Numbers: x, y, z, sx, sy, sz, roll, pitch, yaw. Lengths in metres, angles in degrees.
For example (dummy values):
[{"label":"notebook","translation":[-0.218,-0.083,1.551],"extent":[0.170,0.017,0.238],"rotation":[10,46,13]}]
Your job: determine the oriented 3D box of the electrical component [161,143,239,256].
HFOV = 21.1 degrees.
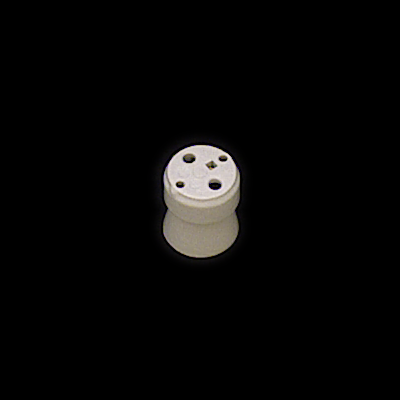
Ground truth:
[{"label":"electrical component","translation":[0.000,0.000,0.629],"extent":[0.045,0.044,0.055],"rotation":[0,-37,0]}]
